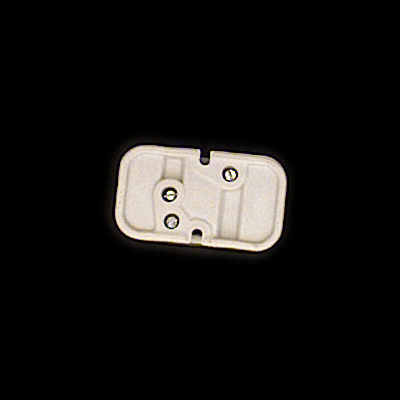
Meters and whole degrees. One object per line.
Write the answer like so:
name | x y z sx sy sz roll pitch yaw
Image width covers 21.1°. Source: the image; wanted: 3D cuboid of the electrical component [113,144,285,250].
electrical component | 0.000 0.000 0.637 0.095 0.054 0.059 6 -6 1
